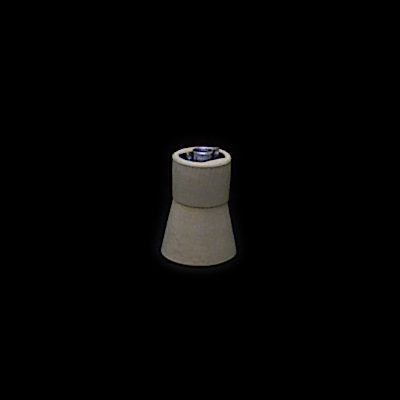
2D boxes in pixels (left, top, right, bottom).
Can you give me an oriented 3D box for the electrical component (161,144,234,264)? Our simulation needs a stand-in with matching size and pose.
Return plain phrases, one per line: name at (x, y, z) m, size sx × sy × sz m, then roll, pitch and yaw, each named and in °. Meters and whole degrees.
electrical component at (0.000, 0.000, 0.636) m, size 0.044 × 0.066 × 0.044 m, roll 2°, pitch 22°, yaw -1°
